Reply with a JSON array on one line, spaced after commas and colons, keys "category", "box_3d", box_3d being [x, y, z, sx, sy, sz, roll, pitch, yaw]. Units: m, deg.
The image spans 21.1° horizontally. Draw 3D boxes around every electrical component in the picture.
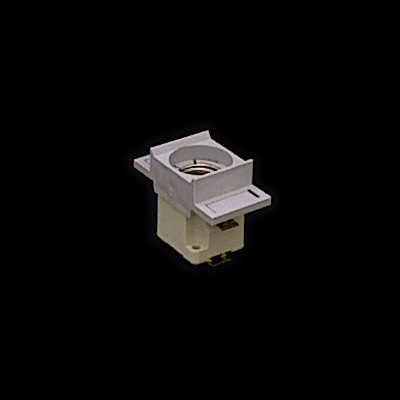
[{"category": "electrical component", "box_3d": [0.000, 0.000, 0.634, 0.042, 0.064, 0.079, -21, 38, -29]}]
